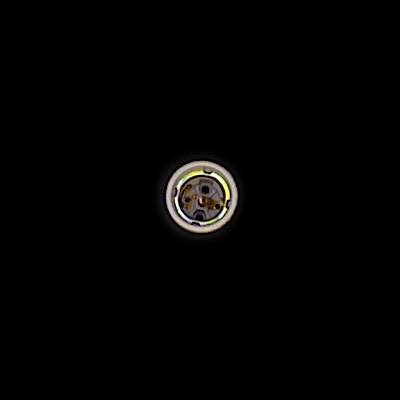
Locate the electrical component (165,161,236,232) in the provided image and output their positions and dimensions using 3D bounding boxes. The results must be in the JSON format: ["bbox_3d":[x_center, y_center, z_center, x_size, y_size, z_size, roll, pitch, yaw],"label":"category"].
[{"bbox_3d":[0.000,0.000,0.628,0.040,0.040,0.046,0,-7,0],"label":"electrical component"}]
